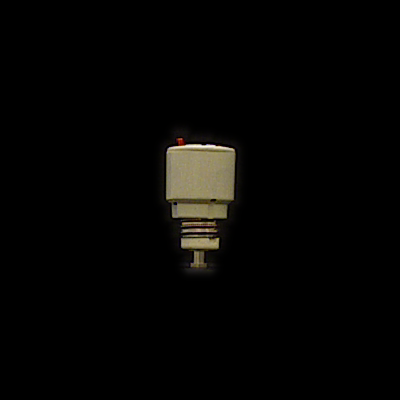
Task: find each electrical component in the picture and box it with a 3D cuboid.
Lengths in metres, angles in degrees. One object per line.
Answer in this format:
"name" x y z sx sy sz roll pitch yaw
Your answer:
"electrical component" 0.000 0.000 0.649 0.040 0.078 0.040 1 2 0
